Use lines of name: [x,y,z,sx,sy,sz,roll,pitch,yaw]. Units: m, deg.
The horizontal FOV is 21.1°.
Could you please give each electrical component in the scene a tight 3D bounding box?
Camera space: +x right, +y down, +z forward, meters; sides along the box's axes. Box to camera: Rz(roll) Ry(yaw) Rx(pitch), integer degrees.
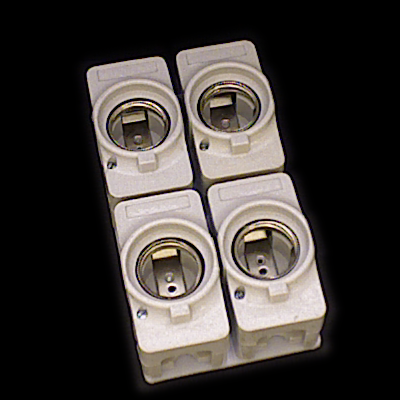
electrical component: [0.000,0.000,0.626,0.105,0.186,0.060,-11,-26,-6]
